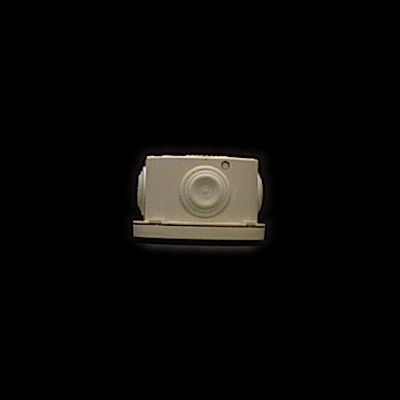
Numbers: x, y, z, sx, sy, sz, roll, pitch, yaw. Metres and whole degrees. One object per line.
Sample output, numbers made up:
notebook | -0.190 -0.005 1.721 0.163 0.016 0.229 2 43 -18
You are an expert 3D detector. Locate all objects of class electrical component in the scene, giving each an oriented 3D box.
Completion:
electrical component | 0.000 0.000 0.651 0.080 0.051 0.080 2 0 0
